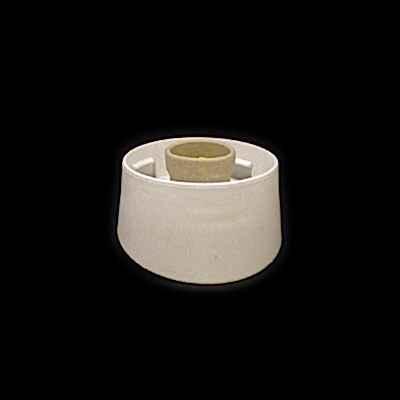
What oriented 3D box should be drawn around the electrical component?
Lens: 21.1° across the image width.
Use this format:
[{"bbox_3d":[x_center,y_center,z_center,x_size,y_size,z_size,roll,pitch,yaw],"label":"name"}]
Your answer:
[{"bbox_3d":[0.000,0.000,0.638,0.099,0.065,0.097,1,21,0],"label":"electrical component"}]
